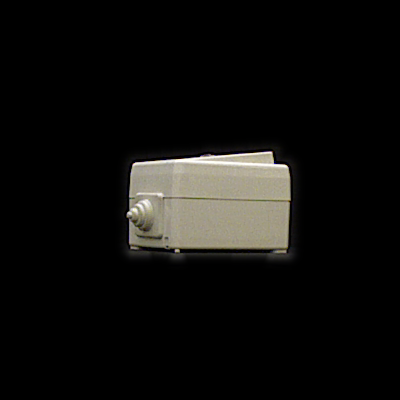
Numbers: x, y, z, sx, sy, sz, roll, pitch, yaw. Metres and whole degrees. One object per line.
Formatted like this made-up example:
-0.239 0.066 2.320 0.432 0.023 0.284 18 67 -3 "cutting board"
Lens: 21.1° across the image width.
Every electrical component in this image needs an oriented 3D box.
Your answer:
0.000 0.000 0.649 0.096 0.061 0.061 1 0 -31 "electrical component"
